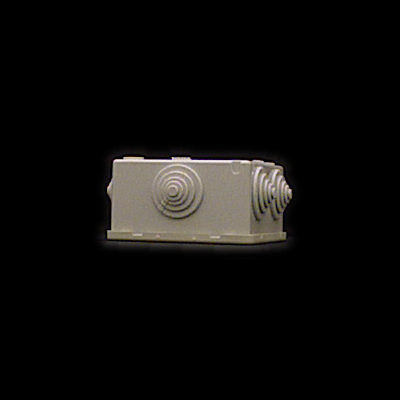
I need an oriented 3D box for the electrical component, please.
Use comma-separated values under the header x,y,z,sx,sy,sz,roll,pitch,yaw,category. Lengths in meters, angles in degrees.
x,y,z,sx,sy,sz,roll,pitch,yaw,category
0.000,0.000,0.648,0.099,0.048,0.100,1,0,18,electrical component
